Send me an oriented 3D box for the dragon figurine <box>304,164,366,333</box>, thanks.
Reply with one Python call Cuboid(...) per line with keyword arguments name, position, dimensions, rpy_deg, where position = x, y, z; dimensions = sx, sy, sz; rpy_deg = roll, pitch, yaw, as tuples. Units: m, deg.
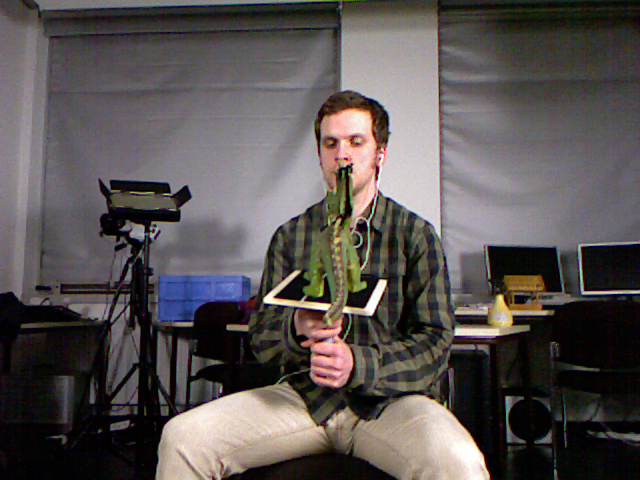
Cuboid(name="dragon figurine", position=(0.033, -0.021, 0.960), dimensions=(0.122, 0.240, 0.416), rpy_deg=(1, 16, -3))
